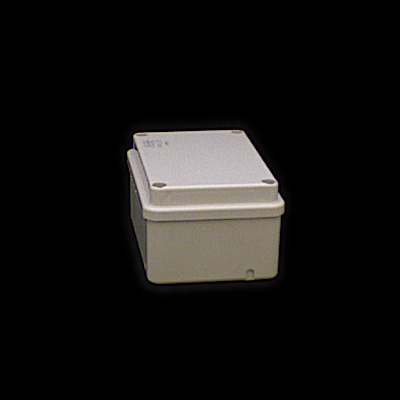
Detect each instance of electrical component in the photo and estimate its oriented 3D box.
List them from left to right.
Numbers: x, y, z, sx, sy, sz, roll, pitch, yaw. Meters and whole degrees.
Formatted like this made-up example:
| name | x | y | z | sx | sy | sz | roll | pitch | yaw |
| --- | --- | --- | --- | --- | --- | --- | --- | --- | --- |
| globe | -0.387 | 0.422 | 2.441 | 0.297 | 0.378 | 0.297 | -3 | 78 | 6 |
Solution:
| name | x | y | z | sx | sy | sz | roll | pitch | yaw |
| --- | --- | --- | --- | --- | --- | --- | --- | --- | --- |
| electrical component | 0.000 | 0.000 | 0.638 | 0.078 | 0.058 | 0.111 | -2 | 21 | -9 |
